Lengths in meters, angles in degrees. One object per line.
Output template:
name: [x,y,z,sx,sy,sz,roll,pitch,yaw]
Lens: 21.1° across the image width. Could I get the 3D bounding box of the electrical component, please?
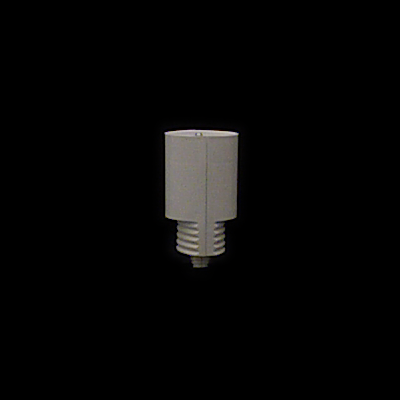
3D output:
electrical component: [0.000,0.000,0.643,0.043,0.081,0.043,2,10,0]
